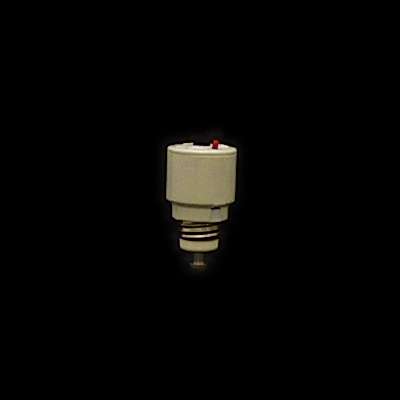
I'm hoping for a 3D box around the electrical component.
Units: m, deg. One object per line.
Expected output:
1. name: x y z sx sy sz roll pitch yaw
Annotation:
1. electrical component: 0.000 0.000 0.640 0.040 0.079 0.040 2 12 0
